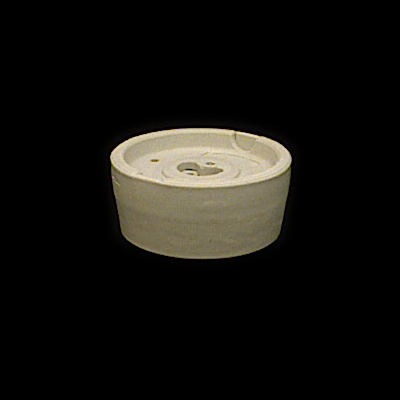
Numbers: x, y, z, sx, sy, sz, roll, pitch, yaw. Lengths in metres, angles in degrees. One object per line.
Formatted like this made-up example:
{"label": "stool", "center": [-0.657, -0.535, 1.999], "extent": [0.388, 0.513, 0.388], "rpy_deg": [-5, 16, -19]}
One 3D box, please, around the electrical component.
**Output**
{"label": "electrical component", "center": [0.000, 0.000, 0.650], "extent": [0.108, 0.061, 0.106], "rpy_deg": [1, 22, 0]}
